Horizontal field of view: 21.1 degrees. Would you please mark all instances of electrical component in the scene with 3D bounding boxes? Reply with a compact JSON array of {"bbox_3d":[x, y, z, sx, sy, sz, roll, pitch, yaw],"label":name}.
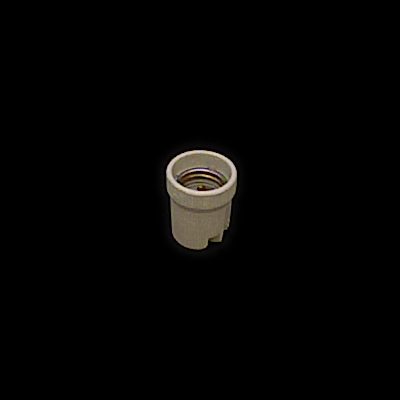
[{"bbox_3d":[0.000,0.000,0.632,0.040,0.047,0.039,1,42,0],"label":"electrical component"}]
